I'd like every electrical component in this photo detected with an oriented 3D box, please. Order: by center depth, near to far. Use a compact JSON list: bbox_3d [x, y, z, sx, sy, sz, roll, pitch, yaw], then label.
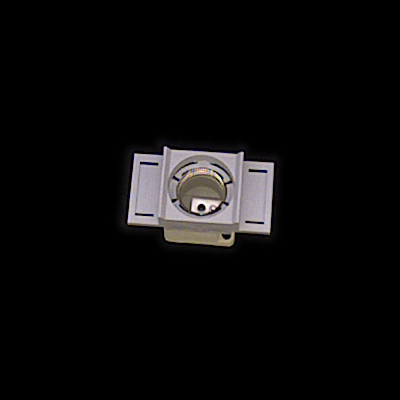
[{"bbox_3d":[0.000,0.000,0.624,0.081,0.042,0.063,4,-18,2],"label":"electrical component"}]
